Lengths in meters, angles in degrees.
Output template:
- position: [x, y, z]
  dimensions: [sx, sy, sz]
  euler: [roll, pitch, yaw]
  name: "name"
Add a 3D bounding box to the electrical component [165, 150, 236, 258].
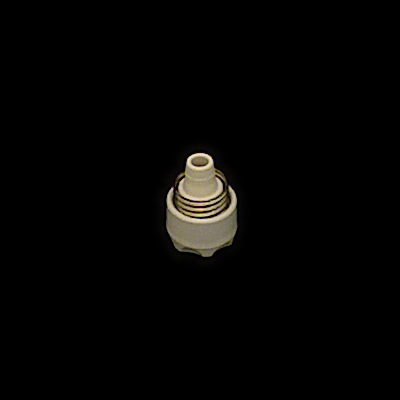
- position: [0.000, 0.000, 0.638]
  dimensions: [0.043, 0.062, 0.043]
  euler: [0, 42, 1]
  name: "electrical component"
